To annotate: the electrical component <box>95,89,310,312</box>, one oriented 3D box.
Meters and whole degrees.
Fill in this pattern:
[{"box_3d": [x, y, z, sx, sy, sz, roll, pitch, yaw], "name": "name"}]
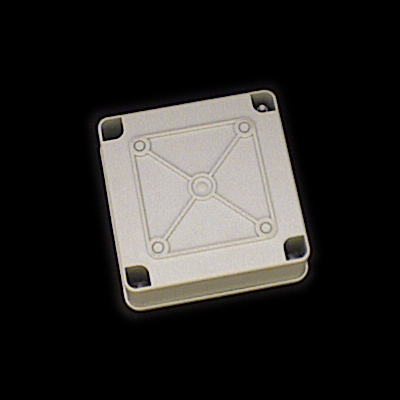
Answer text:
[{"box_3d": [0.000, 0.000, 0.629, 0.109, 0.109, 0.056, -10, -17, -4], "name": "electrical component"}]
